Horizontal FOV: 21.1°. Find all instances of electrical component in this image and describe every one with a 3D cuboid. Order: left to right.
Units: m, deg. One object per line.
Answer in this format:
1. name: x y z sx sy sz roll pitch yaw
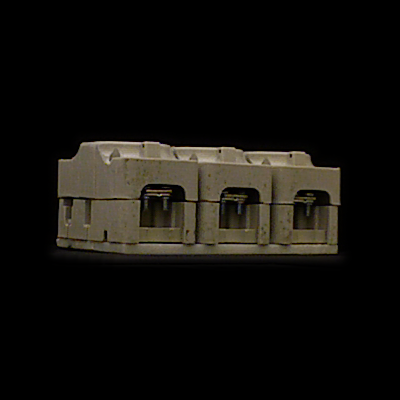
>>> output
1. electrical component: 0.000 0.000 0.656 0.150 0.062 0.089 1 0 -33
